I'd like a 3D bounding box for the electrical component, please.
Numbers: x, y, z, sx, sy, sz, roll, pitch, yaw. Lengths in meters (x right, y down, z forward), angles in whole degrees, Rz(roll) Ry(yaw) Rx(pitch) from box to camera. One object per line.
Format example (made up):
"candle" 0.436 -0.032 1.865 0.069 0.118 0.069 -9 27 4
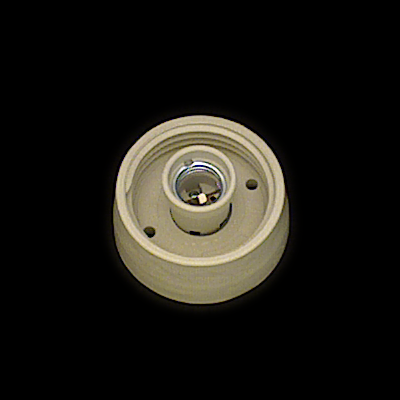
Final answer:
"electrical component" 0.000 0.000 0.634 0.108 0.108 0.060 0 -26 0
